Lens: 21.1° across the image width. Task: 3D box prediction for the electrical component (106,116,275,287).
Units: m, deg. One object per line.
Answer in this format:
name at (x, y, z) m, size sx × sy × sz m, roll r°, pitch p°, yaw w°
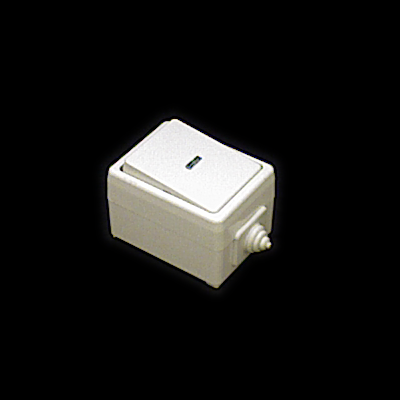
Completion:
electrical component at (0.000, 0.000, 0.629) m, size 0.096 × 0.061 × 0.061 m, roll 25°, pitch 47°, yaw 25°
